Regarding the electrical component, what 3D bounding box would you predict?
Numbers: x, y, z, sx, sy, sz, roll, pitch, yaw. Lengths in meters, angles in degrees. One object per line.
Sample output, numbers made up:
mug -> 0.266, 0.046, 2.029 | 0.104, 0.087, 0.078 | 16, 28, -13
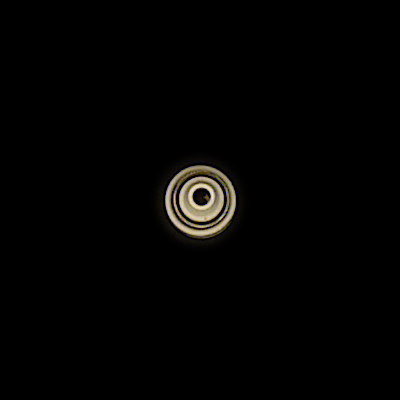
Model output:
electrical component -> 0.000, 0.000, 0.635 | 0.043, 0.043, 0.062 | 0, -5, 0
